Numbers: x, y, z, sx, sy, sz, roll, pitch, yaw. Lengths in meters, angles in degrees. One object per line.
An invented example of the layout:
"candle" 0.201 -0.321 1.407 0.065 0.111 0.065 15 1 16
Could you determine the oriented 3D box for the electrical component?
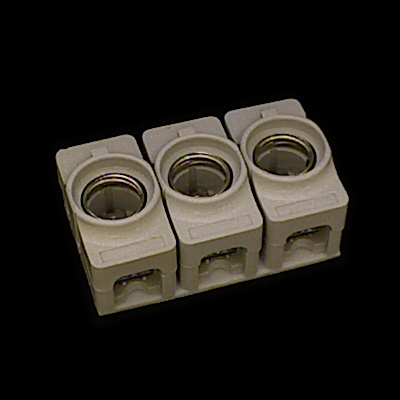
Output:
"electrical component" 0.000 0.000 0.634 0.150 0.088 0.062 -14 -37 -11
